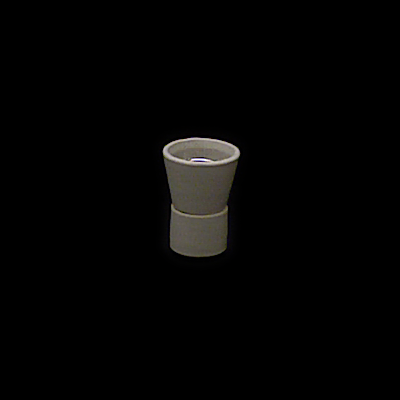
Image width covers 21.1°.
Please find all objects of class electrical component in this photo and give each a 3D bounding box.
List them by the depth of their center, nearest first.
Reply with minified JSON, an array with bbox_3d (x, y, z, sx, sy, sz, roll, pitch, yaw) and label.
[{"bbox_3d":[0.000,0.000,0.637,0.044,0.066,0.044,2,22,-1],"label":"electrical component"}]
